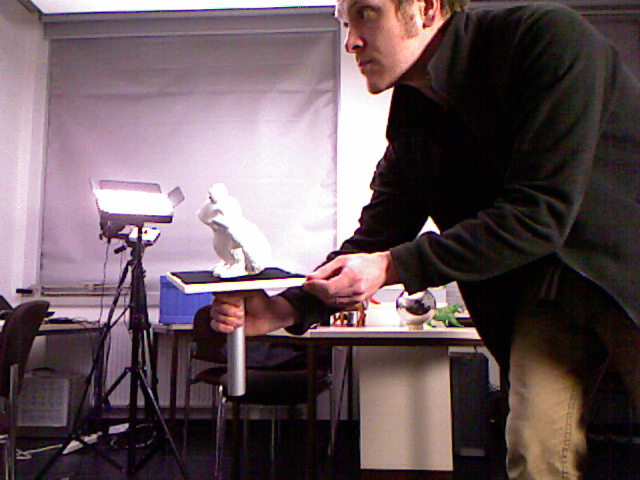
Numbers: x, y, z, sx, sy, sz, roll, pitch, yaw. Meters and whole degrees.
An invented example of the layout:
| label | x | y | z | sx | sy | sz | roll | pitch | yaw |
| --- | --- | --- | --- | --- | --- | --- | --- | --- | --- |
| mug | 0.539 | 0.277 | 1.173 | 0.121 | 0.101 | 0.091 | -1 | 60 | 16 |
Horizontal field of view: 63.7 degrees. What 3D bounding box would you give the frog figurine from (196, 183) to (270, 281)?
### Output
| label | x | y | z | sx | sy | sz | roll | pitch | yaw |
| --- | --- | --- | --- | --- | --- | --- | --- | --- | --- |
| frog figurine | -0.147 | -0.017 | 0.877 | 0.123 | 0.159 | 0.138 | 1 | 6 | -4 |
